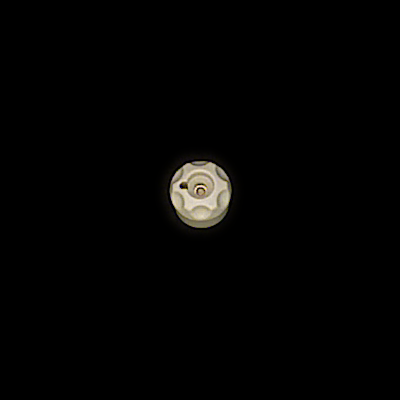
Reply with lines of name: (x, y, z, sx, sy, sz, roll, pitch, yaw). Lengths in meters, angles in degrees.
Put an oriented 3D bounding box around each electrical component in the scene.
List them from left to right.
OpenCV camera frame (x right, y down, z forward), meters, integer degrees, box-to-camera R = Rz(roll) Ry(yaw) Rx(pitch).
electrical component: (0.000, 0.000, 0.634, 0.035, 0.035, 0.061, 0, -16, 1)
